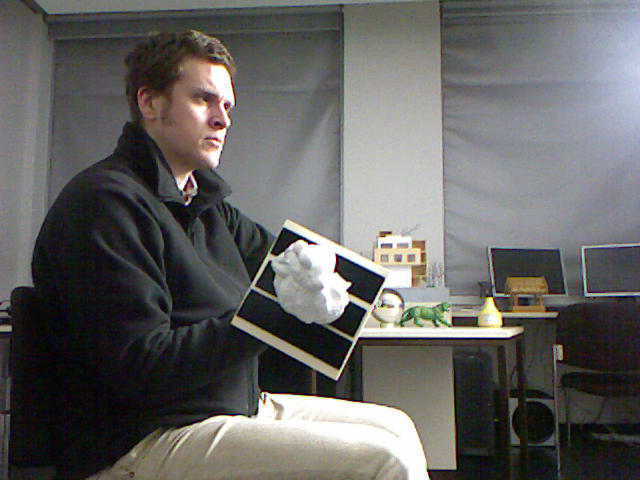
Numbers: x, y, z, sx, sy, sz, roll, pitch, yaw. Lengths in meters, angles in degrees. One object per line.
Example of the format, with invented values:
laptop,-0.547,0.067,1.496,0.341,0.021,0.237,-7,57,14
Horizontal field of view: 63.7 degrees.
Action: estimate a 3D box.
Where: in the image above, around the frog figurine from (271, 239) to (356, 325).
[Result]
frog figurine,-0.016,0.067,0.789,0.123,0.139,0.159,-42,-12,-1
